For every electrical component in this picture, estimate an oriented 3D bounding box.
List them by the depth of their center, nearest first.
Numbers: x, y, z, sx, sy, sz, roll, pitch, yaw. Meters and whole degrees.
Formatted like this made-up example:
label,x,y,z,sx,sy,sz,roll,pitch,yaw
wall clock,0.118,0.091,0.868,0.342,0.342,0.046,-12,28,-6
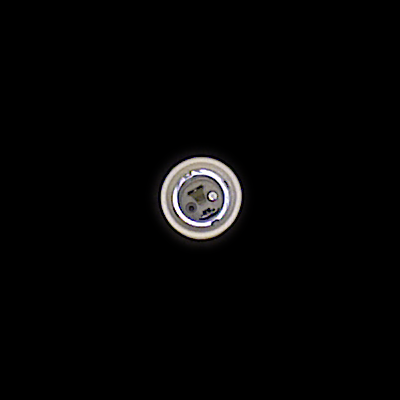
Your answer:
label,x,y,z,sx,sy,sz,roll,pitch,yaw
electrical component,0.000,0.000,0.629,0.045,0.045,0.055,0,-5,0
